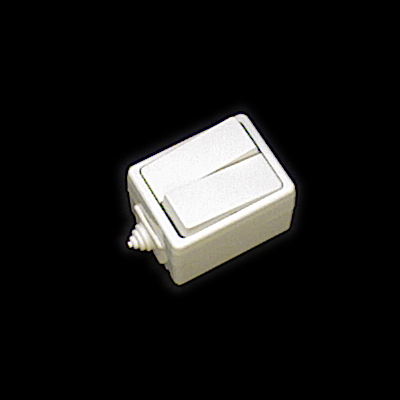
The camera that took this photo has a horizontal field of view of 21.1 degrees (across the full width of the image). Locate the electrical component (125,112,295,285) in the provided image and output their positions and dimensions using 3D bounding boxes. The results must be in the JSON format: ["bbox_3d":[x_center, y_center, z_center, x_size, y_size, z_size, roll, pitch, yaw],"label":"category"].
[{"bbox_3d":[0.000,0.000,0.626,0.096,0.062,0.061,-26,-25,-13],"label":"electrical component"}]
